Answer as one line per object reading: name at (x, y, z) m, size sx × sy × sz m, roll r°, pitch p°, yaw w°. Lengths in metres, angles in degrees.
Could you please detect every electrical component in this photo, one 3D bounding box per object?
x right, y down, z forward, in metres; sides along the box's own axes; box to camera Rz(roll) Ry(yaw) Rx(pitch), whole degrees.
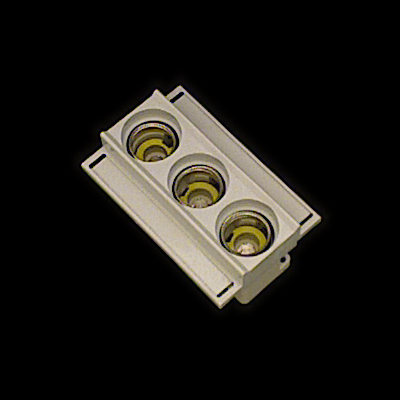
electrical component at (0.000, 0.000, 0.637) m, size 0.079 × 0.121 × 0.063 m, roll -40°, pitch -20°, yaw -16°
